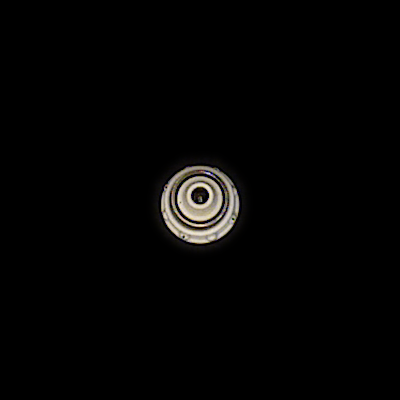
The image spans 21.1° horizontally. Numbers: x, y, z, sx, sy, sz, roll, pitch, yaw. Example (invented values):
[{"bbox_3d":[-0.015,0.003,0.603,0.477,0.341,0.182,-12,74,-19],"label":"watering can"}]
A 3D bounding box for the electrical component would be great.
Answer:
[{"bbox_3d":[0.000,0.000,0.635,0.048,0.048,0.062,0,-6,-1],"label":"electrical component"}]
